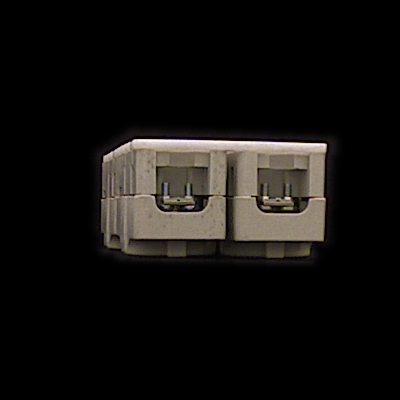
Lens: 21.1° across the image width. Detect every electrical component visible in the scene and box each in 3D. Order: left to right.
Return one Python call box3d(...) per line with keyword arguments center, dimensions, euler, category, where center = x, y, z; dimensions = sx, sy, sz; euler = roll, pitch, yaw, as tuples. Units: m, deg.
box3d(center=(0.000, 0.000, 0.649), dimensions=(0.106, 0.060, 0.186), euler=(1, -1, -10), category="electrical component")
